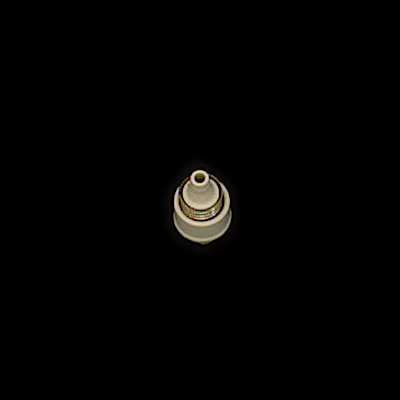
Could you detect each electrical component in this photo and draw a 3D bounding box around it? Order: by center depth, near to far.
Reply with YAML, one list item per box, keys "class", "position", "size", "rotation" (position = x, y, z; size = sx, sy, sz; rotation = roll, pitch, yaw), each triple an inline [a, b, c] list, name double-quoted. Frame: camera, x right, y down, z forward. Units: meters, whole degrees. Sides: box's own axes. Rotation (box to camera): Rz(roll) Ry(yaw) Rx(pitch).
- class: "electrical component"
  position: [0.000, 0.000, 0.637]
  size: [0.035, 0.035, 0.061]
  rotation: [0, -26, 2]
